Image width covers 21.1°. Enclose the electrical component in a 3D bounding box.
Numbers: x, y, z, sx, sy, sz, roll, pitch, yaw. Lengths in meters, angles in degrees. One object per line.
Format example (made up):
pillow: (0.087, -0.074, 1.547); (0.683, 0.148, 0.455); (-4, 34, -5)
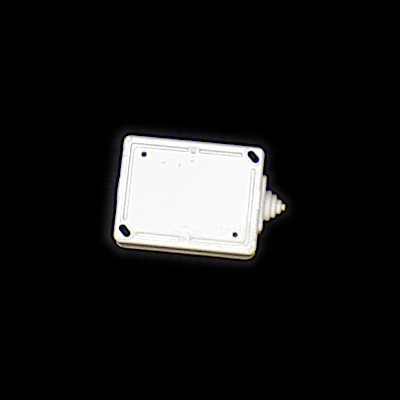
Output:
electrical component: (0.000, 0.000, 0.627); (0.096, 0.062, 0.061); (5, -7, 1)
